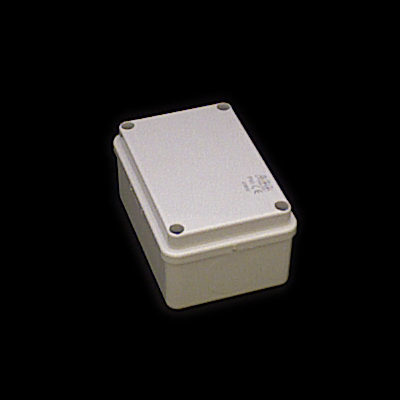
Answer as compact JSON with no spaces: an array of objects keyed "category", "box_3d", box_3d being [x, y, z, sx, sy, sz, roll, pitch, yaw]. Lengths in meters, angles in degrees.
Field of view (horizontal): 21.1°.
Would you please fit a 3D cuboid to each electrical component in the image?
[{"category":"electrical component","box_3d":[0.000,0.000,0.632,0.078,0.057,0.112,-12,44,-14]}]
